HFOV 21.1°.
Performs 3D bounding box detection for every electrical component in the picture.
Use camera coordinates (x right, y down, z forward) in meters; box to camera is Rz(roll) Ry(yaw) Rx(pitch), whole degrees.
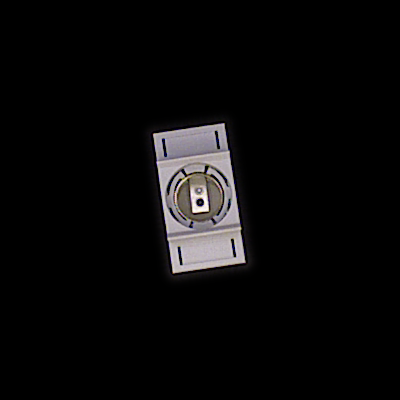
[{"bbox_3d":[0.000,0.000,0.625,0.042,0.081,0.063,-8,-6,0],"label":"electrical component"}]
